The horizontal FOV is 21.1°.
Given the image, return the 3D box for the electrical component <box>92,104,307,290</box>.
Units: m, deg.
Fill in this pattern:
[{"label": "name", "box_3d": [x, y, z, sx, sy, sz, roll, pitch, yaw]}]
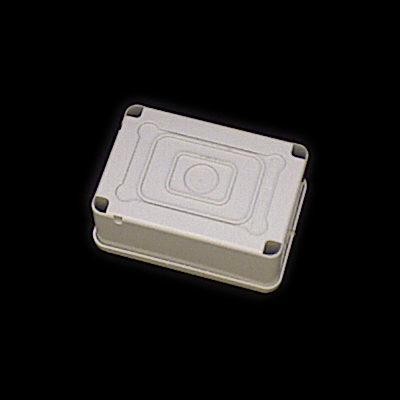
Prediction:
[{"label": "electrical component", "box_3d": [0.000, 0.000, 0.628, 0.113, 0.078, 0.057, 15, -26, 7]}]
